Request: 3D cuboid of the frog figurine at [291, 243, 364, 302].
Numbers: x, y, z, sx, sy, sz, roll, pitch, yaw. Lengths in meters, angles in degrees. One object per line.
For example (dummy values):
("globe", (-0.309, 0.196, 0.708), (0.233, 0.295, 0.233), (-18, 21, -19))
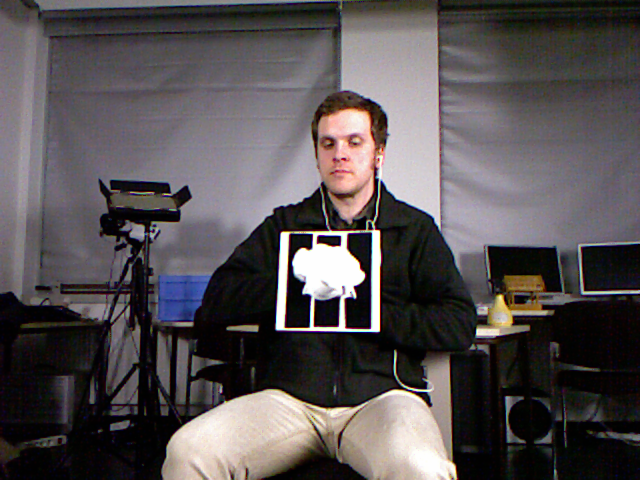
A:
("frog figurine", (0.010, 0.056, 0.950), (0.138, 0.124, 0.158), (23, -14, 13))
